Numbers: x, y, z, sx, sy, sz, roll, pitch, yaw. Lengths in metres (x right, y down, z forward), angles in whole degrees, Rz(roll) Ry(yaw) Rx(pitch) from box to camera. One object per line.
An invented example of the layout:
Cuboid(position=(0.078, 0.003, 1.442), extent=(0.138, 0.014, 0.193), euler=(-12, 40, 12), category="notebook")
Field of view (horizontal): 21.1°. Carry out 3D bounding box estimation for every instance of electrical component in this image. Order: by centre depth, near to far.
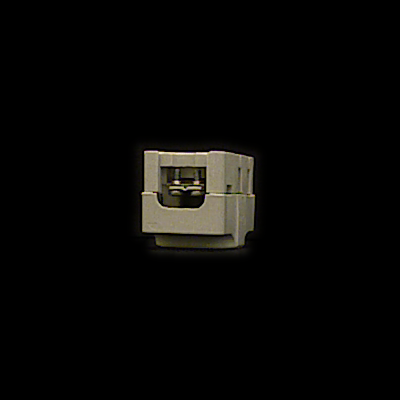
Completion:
Cuboid(position=(0.000, 0.000, 0.656), extent=(0.050, 0.056, 0.090), euler=(1, 0, 14), category="electrical component")
